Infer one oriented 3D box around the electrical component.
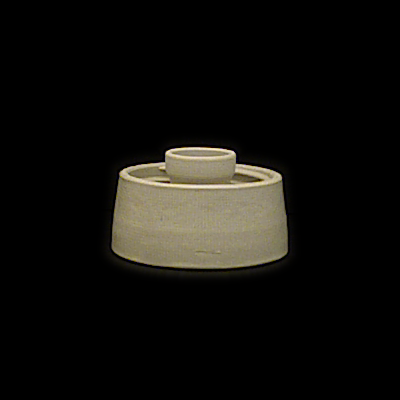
[{"bbox_3d":[0.000,0.000,0.652,0.108,0.061,0.107,1,11,0],"label":"electrical component"}]
